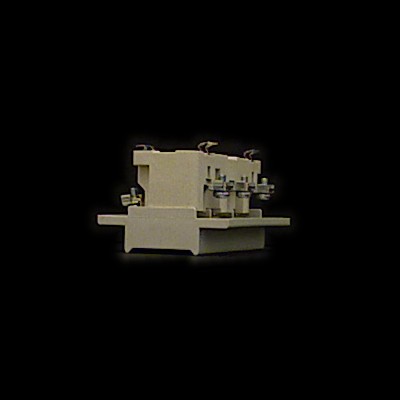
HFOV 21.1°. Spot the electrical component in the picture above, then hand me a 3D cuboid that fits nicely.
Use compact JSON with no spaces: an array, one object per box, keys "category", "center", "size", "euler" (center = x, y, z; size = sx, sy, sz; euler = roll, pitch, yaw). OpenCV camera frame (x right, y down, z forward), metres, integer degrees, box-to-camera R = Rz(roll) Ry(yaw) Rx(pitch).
[{"category":"electrical component","center":[0.000,0.000,0.657],"size":[0.078,0.063,0.122],"euler":[1,0,20]}]
